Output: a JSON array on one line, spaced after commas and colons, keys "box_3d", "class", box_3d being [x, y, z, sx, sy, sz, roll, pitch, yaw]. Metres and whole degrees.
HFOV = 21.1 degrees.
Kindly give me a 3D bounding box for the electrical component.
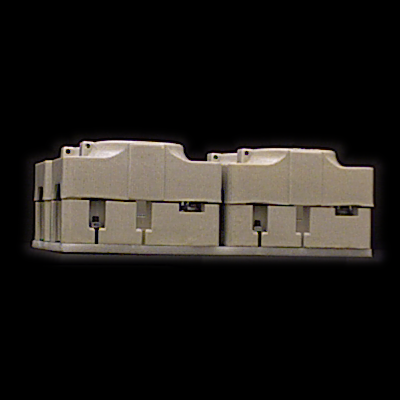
[{"box_3d": [0.000, 0.000, 0.648, 0.186, 0.060, 0.105, 1, 0, -18], "class": "electrical component"}]
